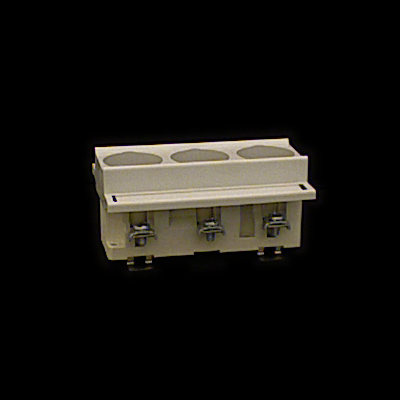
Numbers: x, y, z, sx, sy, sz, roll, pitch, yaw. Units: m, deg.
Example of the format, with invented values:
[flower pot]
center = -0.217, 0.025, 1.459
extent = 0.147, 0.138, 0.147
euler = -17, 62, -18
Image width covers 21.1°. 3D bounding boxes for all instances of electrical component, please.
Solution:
[electrical component]
center = 0.000, 0.000, 0.652
extent = 0.122, 0.064, 0.077
euler = -4, 20, -11
